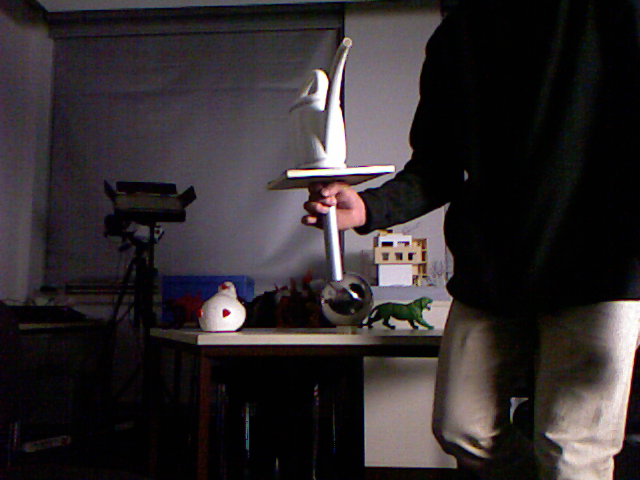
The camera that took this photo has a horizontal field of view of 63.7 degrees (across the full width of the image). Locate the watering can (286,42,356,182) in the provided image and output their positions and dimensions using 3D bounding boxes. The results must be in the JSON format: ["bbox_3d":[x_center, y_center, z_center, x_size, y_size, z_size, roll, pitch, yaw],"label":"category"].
[{"bbox_3d":[0.002,-0.222,0.971,0.104,0.224,0.348,-7,2,-16],"label":"watering can"}]
